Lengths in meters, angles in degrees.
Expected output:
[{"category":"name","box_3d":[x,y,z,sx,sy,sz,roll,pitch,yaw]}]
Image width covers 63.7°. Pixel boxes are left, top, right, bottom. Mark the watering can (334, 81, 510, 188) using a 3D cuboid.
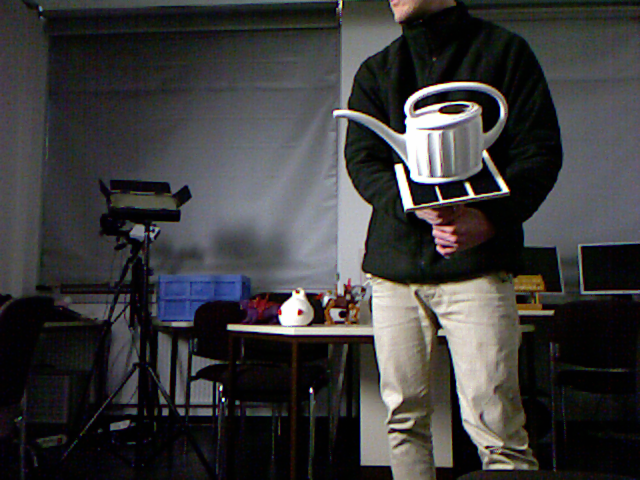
[{"category":"watering can","box_3d":[0.216,-0.213,1.076,0.348,0.220,0.107,-8,35,7]}]
